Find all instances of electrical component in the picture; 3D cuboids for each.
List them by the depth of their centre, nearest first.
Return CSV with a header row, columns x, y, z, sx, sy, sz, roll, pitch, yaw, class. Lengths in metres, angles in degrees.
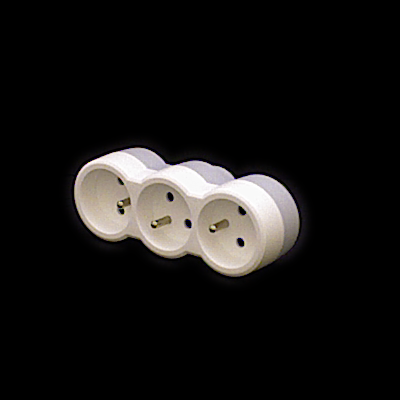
x,y,z,sx,sy,sz,roll,pitch,yaw,class
0.000,0.000,0.642,0.137,0.053,0.073,14,22,32,electrical component
